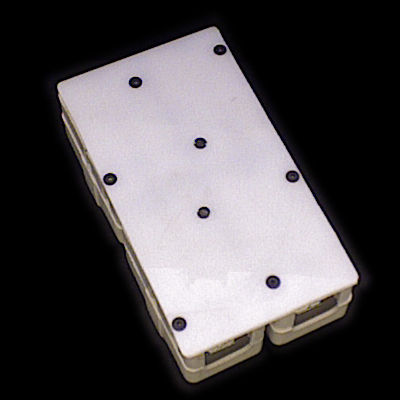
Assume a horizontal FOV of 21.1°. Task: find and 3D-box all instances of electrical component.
[{"bbox_3d":[0.000,0.000,0.625,0.106,0.186,0.060,-22,-25,-11],"label":"electrical component"}]
